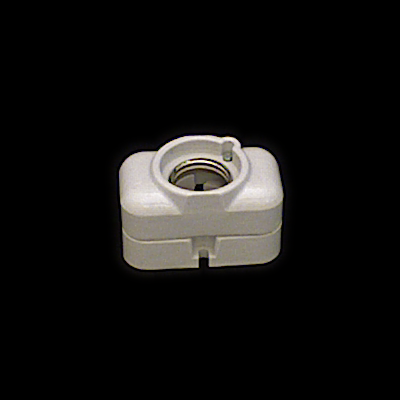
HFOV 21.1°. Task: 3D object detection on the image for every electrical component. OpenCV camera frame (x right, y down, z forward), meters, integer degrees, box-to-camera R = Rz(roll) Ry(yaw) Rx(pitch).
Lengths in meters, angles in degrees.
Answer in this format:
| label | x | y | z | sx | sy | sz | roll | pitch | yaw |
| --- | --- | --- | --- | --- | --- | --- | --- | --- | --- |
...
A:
| label | x | y | z | sx | sy | sz | roll | pitch | yaw |
| --- | --- | --- | --- | --- | --- | --- | --- | --- | --- |
| electrical component | 0.000 | 0.000 | 0.639 | 0.095 | 0.060 | 0.053 | -3 | 43 | -5 |
